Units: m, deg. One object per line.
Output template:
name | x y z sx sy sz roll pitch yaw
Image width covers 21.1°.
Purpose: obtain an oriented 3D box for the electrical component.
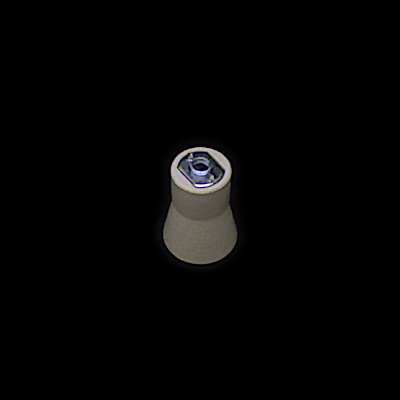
electrical component | 0.000 0.000 0.627 0.044 0.044 0.065 0 -39 -1
